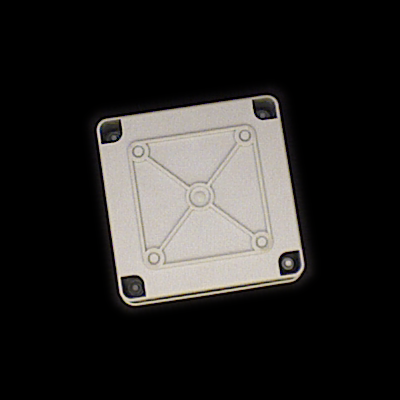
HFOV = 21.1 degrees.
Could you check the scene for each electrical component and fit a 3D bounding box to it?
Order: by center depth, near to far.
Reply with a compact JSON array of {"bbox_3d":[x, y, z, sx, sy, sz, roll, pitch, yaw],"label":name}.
[{"bbox_3d":[0.000,0.000,0.629,0.109,0.109,0.056,-9,-6,-1],"label":"electrical component"}]
